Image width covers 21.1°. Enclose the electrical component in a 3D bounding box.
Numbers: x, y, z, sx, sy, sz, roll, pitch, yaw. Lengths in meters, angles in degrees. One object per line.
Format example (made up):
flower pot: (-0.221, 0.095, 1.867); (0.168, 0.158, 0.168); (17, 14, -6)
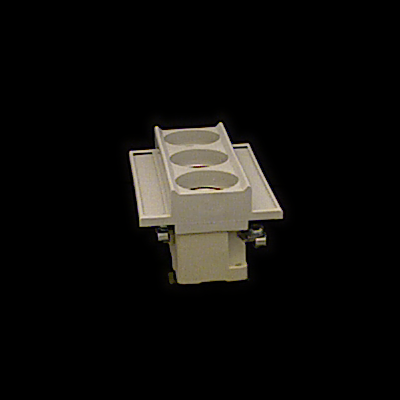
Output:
electrical component: (0.000, 0.000, 0.650); (0.079, 0.064, 0.119); (-3, 22, -6)
